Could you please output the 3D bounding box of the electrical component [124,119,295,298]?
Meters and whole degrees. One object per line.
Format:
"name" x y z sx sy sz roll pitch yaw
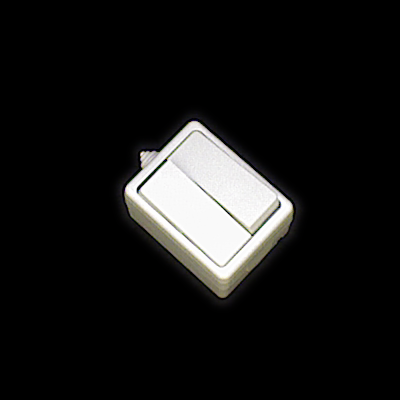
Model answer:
"electrical component" 0.000 0.000 0.627 0.096 0.062 0.060 42 -13 11
